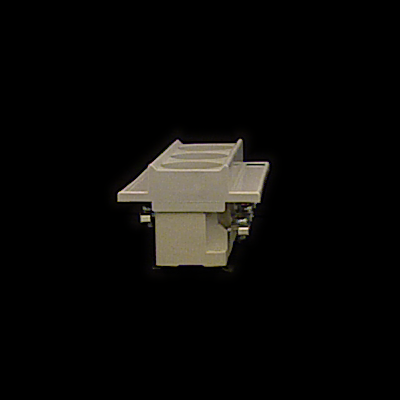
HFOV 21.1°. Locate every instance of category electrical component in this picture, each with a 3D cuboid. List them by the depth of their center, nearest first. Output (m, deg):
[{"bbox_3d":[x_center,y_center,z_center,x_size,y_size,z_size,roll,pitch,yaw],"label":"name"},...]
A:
[{"bbox_3d":[0.000,0.000,0.656,0.078,0.063,0.120,1,11,6],"label":"electrical component"}]
